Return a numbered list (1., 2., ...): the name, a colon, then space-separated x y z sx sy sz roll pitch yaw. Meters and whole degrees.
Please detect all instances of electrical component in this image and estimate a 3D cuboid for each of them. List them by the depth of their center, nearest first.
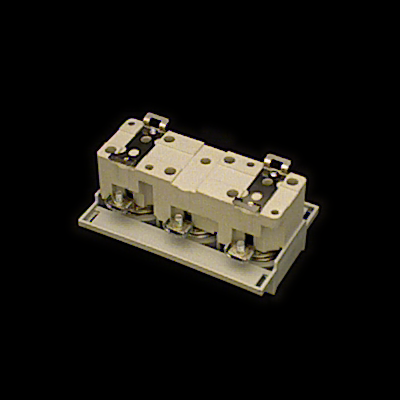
1. electrical component: 0.000 0.000 0.635 0.120 0.063 0.078 20 46 20
